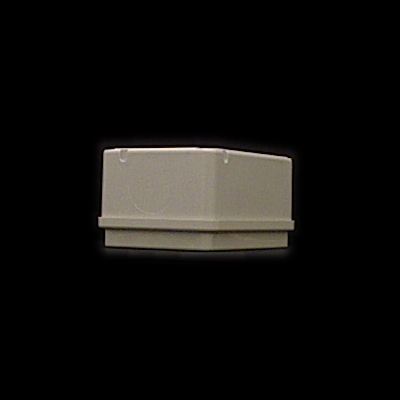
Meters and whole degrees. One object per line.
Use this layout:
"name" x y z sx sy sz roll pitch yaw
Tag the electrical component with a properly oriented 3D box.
"electrical component" 0.000 0.000 0.650 0.078 0.057 0.113 1 0 30
